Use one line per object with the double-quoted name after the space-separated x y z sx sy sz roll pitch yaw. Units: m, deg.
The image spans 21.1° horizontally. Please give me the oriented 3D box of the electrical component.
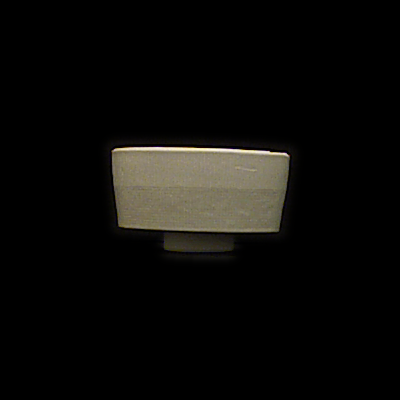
0.000 0.000 0.655 0.108 0.060 0.108 2 1 1 "electrical component"
